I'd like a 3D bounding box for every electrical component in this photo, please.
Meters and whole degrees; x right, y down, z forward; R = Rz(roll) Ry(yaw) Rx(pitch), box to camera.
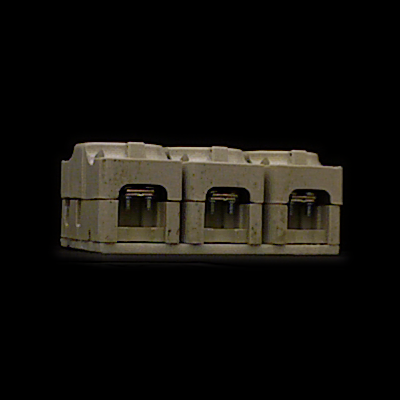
[{"bbox_3d":[0.000,0.000,0.655,0.150,0.062,0.089,1,0,-23],"label":"electrical component"}]
